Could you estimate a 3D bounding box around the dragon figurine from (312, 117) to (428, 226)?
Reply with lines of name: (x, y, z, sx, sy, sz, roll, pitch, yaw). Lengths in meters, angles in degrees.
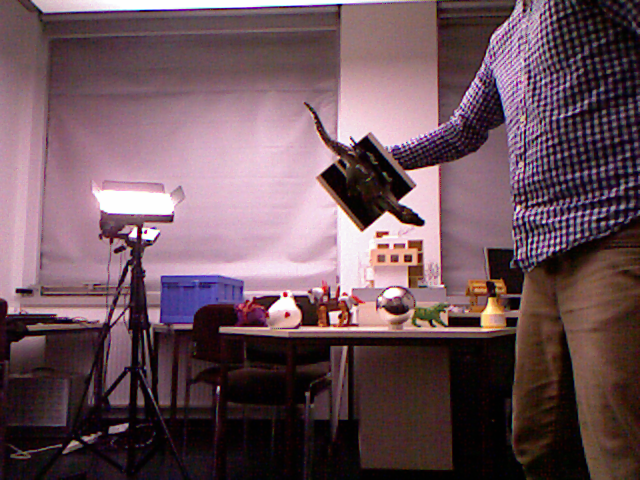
dragon figurine: (0.118, -0.178, 1.322, 0.123, 0.411, 0.243, -44, 2, -3)
